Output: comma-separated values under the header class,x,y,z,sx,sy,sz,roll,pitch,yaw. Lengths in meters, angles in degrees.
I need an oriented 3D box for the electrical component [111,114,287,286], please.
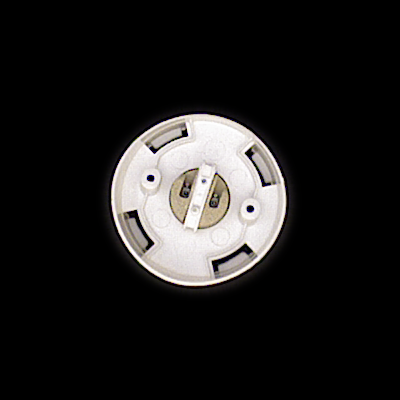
class,x,y,z,sx,sy,sz,roll,pitch,yaw
electrical component,0.000,0.000,0.624,0.099,0.099,0.064,0,-6,0
